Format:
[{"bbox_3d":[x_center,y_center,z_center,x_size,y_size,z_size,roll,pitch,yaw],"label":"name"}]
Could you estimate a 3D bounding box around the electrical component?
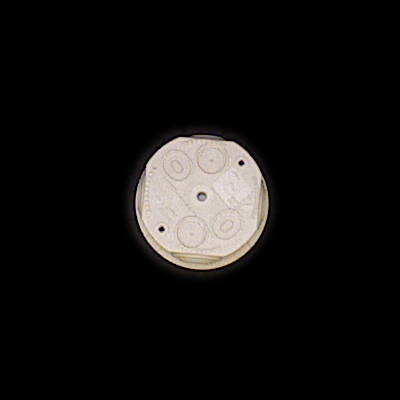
[{"bbox_3d":[0.000,0.000,0.633,0.080,0.080,0.050,0,-7,0],"label":"electrical component"}]
